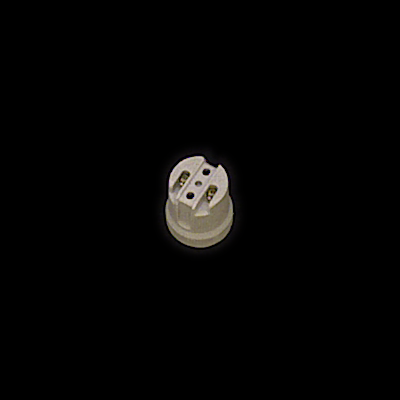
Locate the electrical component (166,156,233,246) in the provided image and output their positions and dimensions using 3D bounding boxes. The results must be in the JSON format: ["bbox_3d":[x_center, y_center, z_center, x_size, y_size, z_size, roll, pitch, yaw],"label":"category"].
[{"bbox_3d":[0.000,0.000,0.633,0.040,0.040,0.046,0,-27,0],"label":"electrical component"}]
